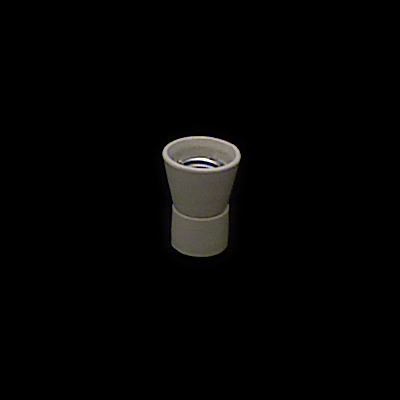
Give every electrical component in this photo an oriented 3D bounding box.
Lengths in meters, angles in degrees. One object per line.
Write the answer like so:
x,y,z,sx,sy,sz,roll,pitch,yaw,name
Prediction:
0.000,0.000,0.635,0.044,0.066,0.044,1,30,0,electrical component
